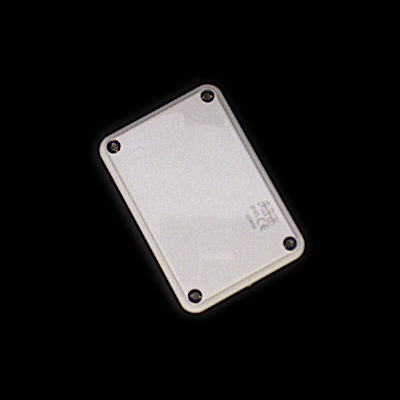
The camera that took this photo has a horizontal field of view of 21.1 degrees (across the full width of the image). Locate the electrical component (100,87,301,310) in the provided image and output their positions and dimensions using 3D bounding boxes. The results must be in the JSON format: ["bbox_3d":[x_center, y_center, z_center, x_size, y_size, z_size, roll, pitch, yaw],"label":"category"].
[{"bbox_3d":[0.000,0.000,0.628,0.078,0.113,0.057,-29,-6,-3],"label":"electrical component"}]
